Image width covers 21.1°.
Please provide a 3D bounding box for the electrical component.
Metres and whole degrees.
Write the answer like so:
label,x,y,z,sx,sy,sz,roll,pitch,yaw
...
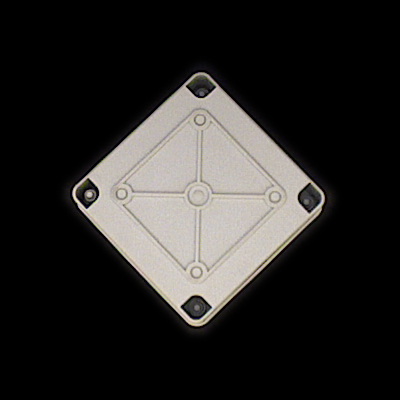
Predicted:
label,x,y,z,sx,sy,sz,roll,pitch,yaw
electrical component,0.000,0.000,0.628,0.109,0.109,0.056,-44,-5,-4
